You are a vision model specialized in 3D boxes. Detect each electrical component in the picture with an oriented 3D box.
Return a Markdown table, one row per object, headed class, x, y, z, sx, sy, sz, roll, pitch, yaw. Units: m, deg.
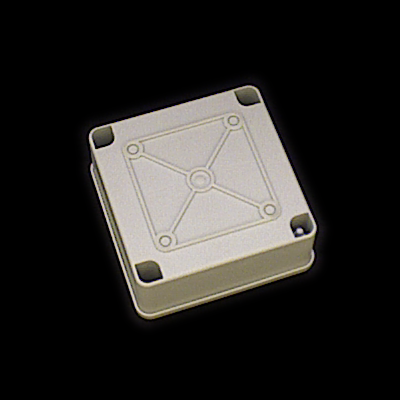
| class | x | y | z | sx | sy | sz | roll | pitch | yaw |
| --- | --- | --- | --- | --- | --- | --- | --- | --- | --- |
| electrical component | 0.000 | 0.000 | 0.628 | 0.109 | 0.108 | 0.056 | -16 | -25 | -9 |
